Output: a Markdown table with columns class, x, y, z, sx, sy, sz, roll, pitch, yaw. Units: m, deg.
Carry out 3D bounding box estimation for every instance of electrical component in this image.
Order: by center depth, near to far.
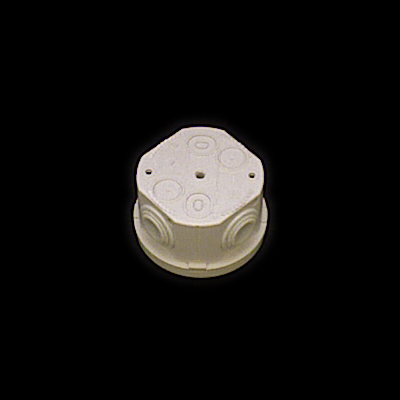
| class | x | y | z | sx | sy | sz | roll | pitch | yaw |
| --- | --- | --- | --- | --- | --- | --- | --- | --- | --- |
| electrical component | 0.000 | 0.000 | 0.632 | 0.080 | 0.080 | 0.051 | 0 | -37 | 0 |
